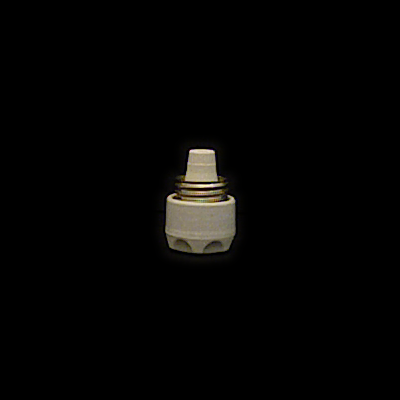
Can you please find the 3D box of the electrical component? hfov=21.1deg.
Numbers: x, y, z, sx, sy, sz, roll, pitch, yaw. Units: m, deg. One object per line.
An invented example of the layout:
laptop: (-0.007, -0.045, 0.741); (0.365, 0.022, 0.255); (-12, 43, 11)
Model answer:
electrical component: (0.000, 0.000, 0.652); (0.043, 0.062, 0.043); (2, 11, 0)
